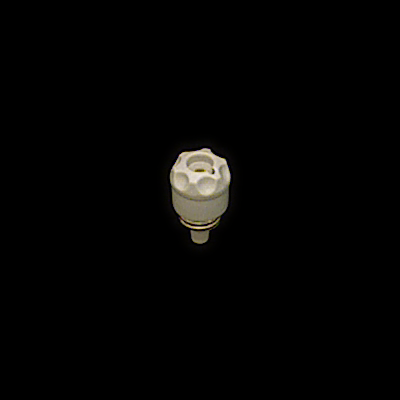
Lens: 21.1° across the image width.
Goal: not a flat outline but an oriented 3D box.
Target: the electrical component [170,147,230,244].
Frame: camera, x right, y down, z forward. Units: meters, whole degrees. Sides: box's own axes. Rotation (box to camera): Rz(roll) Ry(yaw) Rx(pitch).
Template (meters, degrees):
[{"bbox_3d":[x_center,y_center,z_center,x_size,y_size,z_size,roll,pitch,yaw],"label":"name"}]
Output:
[{"bbox_3d":[0.000,0.000,0.636,0.035,0.062,0.035,0,43,0],"label":"electrical component"}]
